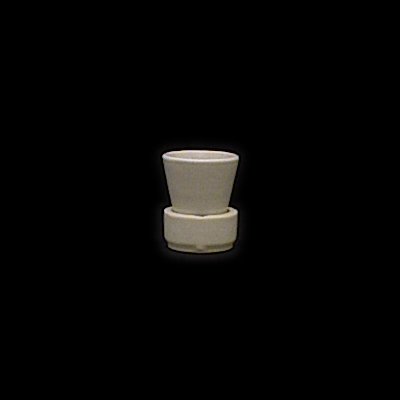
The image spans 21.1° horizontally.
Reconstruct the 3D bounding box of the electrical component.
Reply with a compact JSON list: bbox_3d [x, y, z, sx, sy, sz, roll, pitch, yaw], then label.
[{"bbox_3d":[0.000,0.000,0.642,0.045,0.055,0.044,1,11,0],"label":"electrical component"}]
